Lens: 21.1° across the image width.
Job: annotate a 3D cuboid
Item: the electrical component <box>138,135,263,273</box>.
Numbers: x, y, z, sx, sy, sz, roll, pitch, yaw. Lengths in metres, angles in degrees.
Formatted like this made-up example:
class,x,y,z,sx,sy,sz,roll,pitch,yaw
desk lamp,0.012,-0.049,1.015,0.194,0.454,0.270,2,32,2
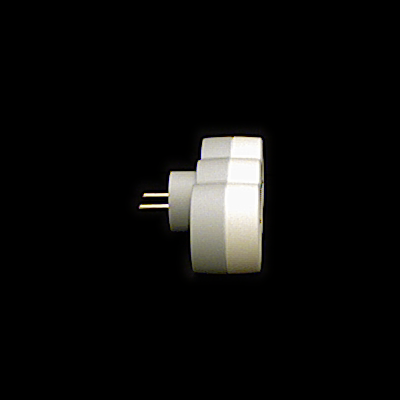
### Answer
class,x,y,z,sx,sy,sz,roll,pitch,yaw
electrical component,0.000,0.000,0.649,0.073,0.053,0.136,1,21,4
